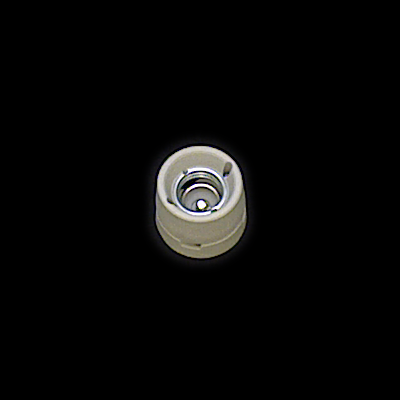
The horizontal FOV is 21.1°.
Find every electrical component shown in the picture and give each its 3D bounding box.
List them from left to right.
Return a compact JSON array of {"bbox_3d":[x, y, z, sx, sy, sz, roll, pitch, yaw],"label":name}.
[{"bbox_3d":[0.000,0.000,0.632,0.055,0.056,0.047,0,-27,1],"label":"electrical component"}]
